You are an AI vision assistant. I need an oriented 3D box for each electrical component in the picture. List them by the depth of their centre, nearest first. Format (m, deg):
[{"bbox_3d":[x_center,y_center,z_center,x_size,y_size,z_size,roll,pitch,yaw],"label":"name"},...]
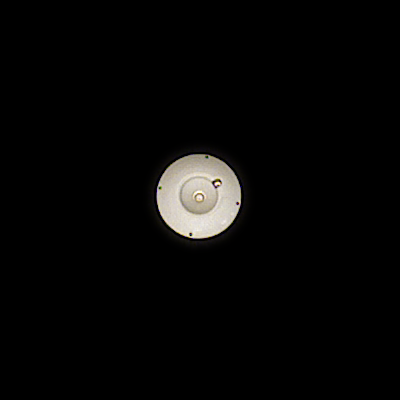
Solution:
[{"bbox_3d":[0.000,0.000,0.634,0.048,0.048,0.062,0,-5,0],"label":"electrical component"}]
